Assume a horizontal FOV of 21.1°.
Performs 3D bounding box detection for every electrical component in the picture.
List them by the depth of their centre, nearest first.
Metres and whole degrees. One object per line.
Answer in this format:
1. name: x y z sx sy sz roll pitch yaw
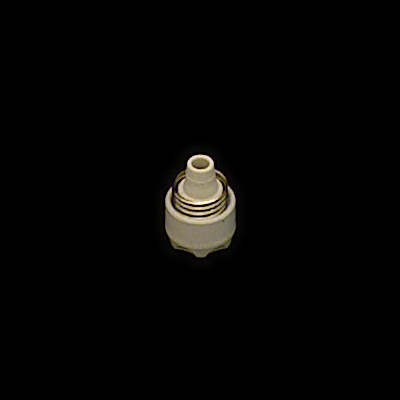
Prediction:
1. electrical component: 0.000 0.000 0.637 0.043 0.062 0.043 0 44 0
